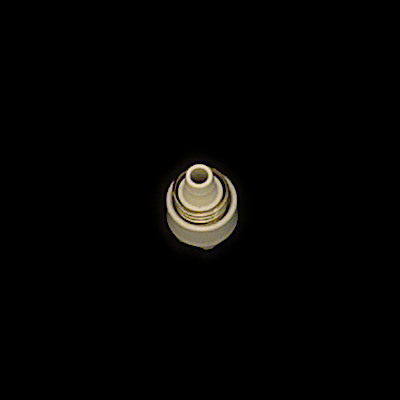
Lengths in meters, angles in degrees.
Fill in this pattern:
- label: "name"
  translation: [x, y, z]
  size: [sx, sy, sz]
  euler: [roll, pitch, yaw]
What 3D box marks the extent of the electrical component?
- label: "electrical component"
  translation: [0.000, 0.000, 0.634]
  size: [0.043, 0.043, 0.062]
  euler: [0, -27, 2]
